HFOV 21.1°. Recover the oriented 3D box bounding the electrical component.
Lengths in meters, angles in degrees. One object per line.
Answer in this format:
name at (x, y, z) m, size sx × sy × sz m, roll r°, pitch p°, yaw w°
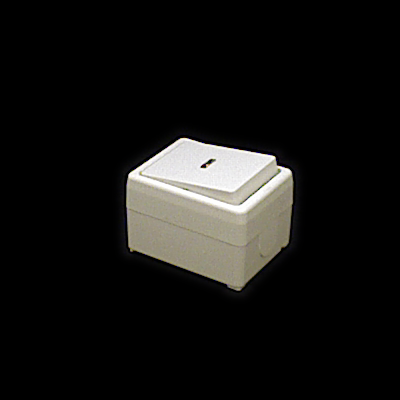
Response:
electrical component at (0.000, 0.000, 0.635) m, size 0.095 × 0.061 × 0.061 m, roll 18°, pitch 35°, yaw 26°
